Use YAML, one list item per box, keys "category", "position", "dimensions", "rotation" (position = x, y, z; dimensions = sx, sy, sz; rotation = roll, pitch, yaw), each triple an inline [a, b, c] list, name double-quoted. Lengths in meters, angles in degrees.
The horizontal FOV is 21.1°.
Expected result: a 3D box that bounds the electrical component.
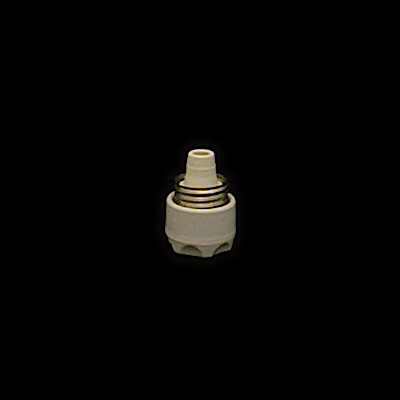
- category: "electrical component"
  position: [0.000, 0.000, 0.647]
  dimensions: [0.043, 0.063, 0.043]
  rotation: [1, 21, 0]
